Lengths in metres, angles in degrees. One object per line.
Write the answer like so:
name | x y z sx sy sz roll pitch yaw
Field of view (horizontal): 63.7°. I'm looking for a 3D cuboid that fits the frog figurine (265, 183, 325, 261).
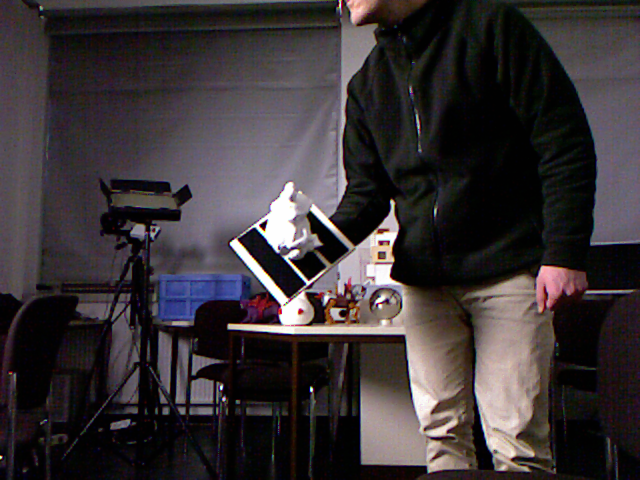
frog figurine | -0.063 -0.036 1.073 0.123 0.140 0.156 -20 -29 1
